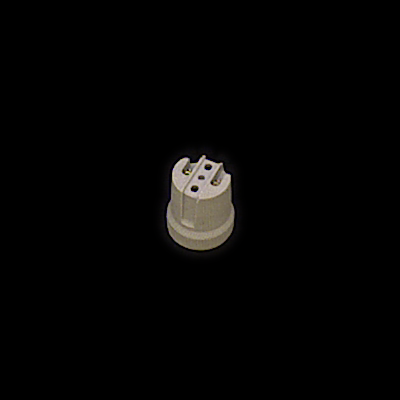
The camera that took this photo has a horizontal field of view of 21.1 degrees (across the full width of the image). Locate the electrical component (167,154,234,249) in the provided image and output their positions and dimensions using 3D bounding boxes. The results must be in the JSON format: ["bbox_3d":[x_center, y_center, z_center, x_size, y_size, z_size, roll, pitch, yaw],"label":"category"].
[{"bbox_3d":[0.000,0.000,0.634,0.040,0.040,0.046,0,-37,-1],"label":"electrical component"}]
